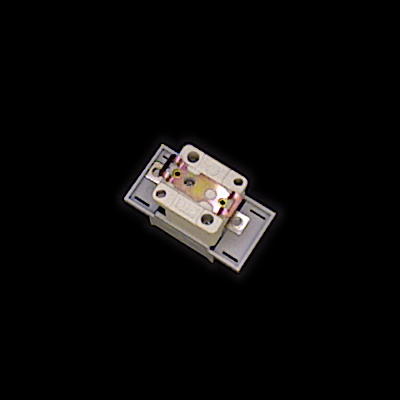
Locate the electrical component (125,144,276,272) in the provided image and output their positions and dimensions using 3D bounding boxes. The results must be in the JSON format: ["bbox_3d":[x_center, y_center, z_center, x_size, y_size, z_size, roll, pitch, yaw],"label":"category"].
[{"bbox_3d":[0.000,0.000,0.625,0.081,0.042,0.063,31,-14,9],"label":"electrical component"}]
